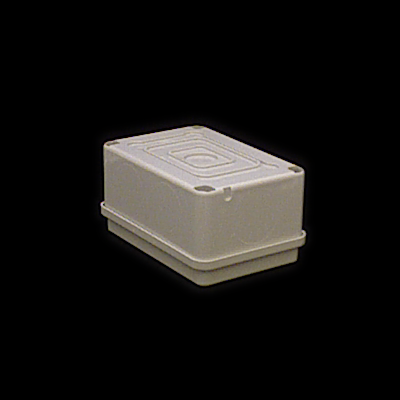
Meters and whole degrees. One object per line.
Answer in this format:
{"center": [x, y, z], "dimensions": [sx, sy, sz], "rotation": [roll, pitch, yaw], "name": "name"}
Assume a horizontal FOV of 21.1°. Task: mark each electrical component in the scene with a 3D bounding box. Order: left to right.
{"center": [0.000, 0.000, 0.639], "dimensions": [0.078, 0.058, 0.112], "rotation": [-13, 25, -32], "name": "electrical component"}
